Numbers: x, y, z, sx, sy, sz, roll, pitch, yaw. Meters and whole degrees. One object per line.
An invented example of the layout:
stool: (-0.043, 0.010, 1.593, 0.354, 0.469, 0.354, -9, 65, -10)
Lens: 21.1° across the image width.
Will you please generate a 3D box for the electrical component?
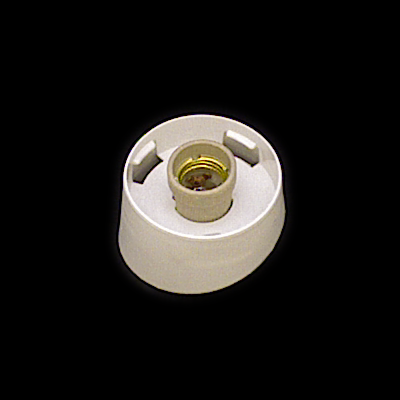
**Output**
electrical component: (0.000, 0.000, 0.627, 0.099, 0.098, 0.064, 0, -37, 0)
